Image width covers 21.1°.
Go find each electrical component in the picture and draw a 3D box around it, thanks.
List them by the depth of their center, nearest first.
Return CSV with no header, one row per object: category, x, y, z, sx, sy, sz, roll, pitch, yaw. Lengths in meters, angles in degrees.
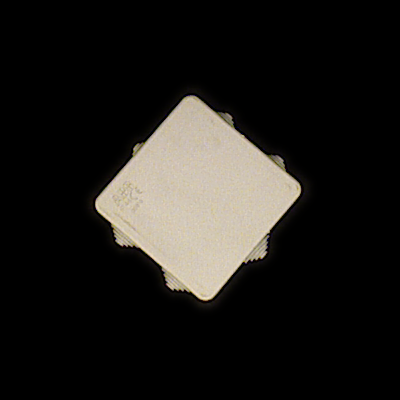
electrical component,0.000,0.000,0.642,0.100,0.100,0.048,41,-5,4
